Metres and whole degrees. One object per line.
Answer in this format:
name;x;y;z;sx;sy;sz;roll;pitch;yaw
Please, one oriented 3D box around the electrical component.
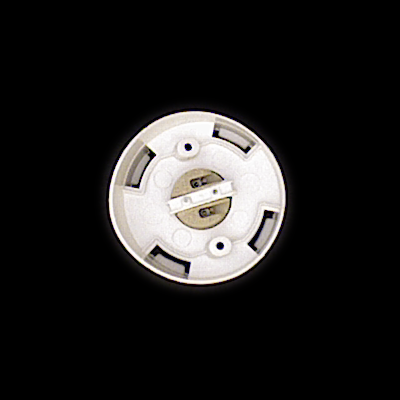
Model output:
electrical component;0.000;0.000;0.624;0.099;0.099;0.064;0;-6;1
